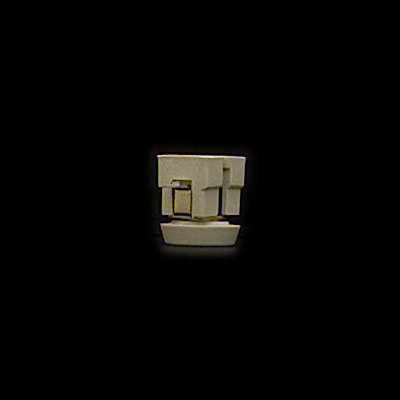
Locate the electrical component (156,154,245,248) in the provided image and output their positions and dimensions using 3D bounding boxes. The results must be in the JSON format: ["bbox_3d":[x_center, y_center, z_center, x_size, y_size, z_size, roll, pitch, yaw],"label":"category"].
[{"bbox_3d":[0.000,0.000,0.658,0.048,0.055,0.067,4,4,34],"label":"electrical component"}]
